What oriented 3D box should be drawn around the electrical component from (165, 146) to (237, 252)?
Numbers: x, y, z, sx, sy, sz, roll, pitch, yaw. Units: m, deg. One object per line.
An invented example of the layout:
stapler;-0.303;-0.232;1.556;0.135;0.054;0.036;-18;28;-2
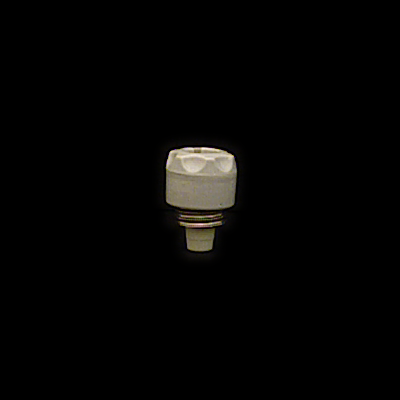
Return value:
electrical component;0.000;0.000;0.650;0.043;0.062;0.043;2;13;0
